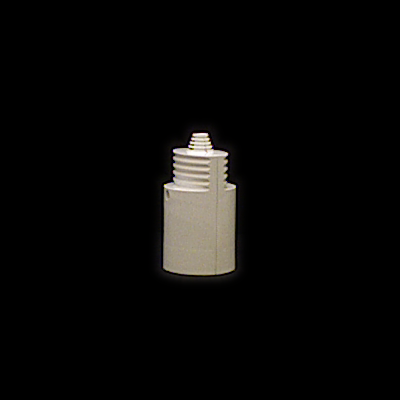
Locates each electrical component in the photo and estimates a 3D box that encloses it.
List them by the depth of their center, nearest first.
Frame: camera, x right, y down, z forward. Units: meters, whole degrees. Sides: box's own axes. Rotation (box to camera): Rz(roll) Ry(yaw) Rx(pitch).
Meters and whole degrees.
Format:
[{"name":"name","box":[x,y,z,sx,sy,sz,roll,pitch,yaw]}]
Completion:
[{"name":"electrical component","box":[0.000,0.000,0.643,0.043,0.081,0.043,1,11,0]}]
